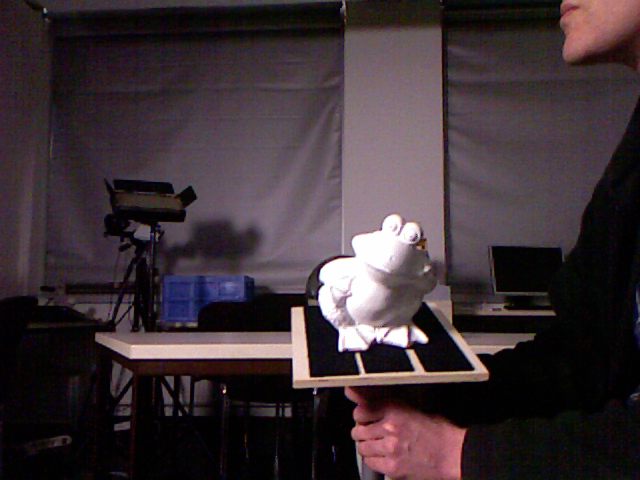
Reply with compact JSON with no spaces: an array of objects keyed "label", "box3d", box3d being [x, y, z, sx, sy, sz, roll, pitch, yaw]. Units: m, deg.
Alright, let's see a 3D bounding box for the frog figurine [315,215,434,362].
[{"label":"frog figurine","box3d":[0.063,0.044,0.596,0.137,0.157,0.124,2,16,4]}]
